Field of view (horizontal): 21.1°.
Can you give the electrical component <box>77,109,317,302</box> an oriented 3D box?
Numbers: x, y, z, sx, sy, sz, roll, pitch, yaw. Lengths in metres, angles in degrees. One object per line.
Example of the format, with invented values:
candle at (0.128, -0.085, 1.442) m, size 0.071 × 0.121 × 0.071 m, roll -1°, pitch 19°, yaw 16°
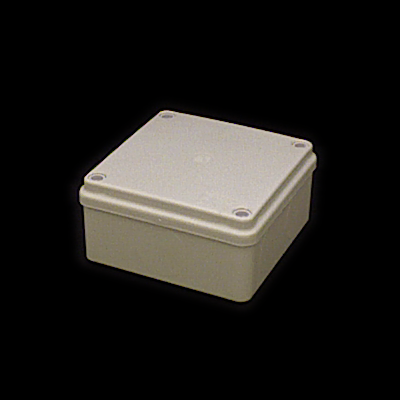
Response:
electrical component at (0.000, 0.000, 0.637) m, size 0.108 × 0.057 × 0.108 m, roll 14°, pitch 33°, yaw 21°
